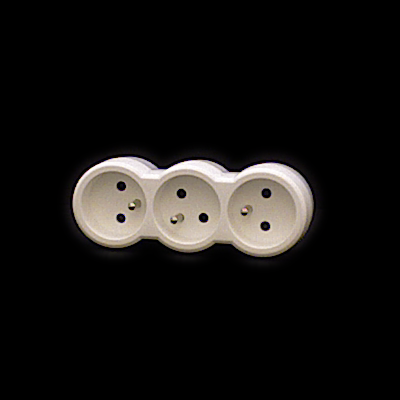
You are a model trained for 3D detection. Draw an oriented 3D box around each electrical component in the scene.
[{"bbox_3d":[0.000,0.000,0.645,0.138,0.052,0.073,3,9,11],"label":"electrical component"}]
